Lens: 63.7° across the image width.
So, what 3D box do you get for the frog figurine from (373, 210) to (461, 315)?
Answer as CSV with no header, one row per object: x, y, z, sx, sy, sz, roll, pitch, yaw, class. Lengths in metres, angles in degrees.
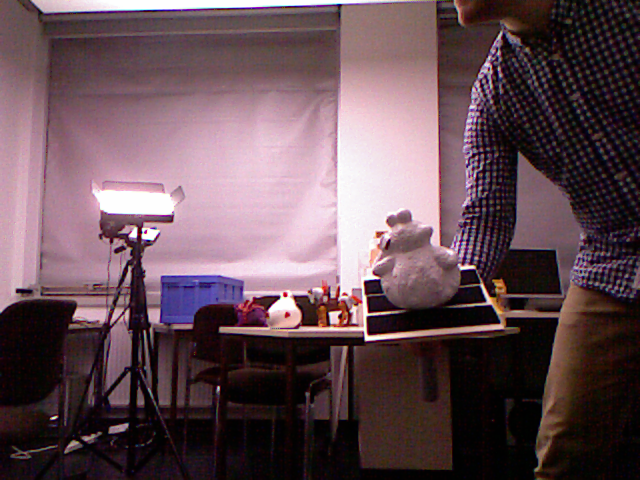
0.154,0.033,0.824,0.137,0.156,0.125,0,30,16,frog figurine
